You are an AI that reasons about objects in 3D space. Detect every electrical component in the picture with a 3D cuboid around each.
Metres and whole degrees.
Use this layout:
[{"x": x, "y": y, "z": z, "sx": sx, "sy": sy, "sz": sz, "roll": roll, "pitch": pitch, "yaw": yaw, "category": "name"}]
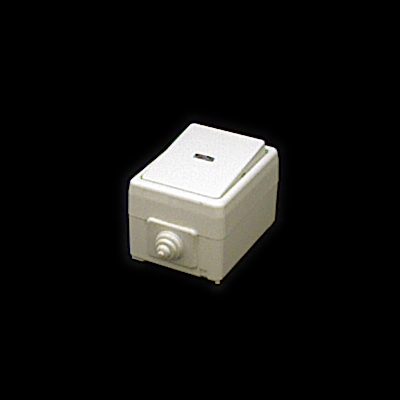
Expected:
[{"x": 0.000, "y": 0.000, "z": 0.632, "sx": 0.061, "sy": 0.061, "sz": 0.095, "roll": 16, "pitch": 34, "yaw": 23, "category": "electrical component"}]
